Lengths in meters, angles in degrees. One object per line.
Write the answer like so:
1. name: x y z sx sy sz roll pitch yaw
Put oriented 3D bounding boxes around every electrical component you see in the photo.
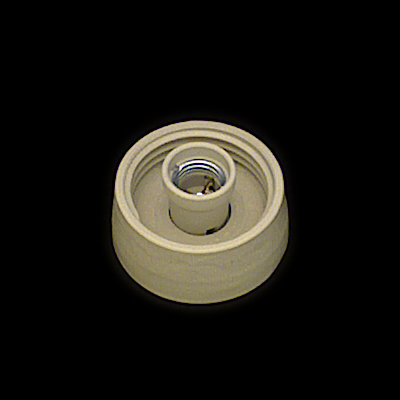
1. electrical component: 0.000 0.000 0.635 0.108 0.107 0.060 0 -37 0
